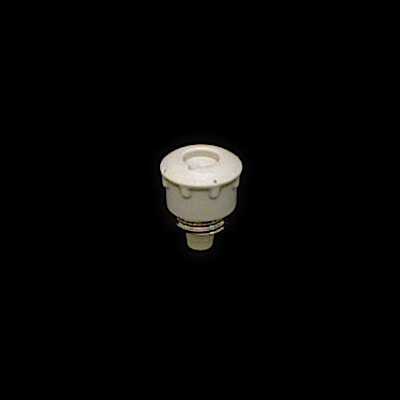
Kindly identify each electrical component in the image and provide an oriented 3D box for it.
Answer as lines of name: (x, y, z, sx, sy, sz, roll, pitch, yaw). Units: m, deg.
electrical component: (0.000, 0.000, 0.640, 0.048, 0.063, 0.047, 1, 32, 0)
